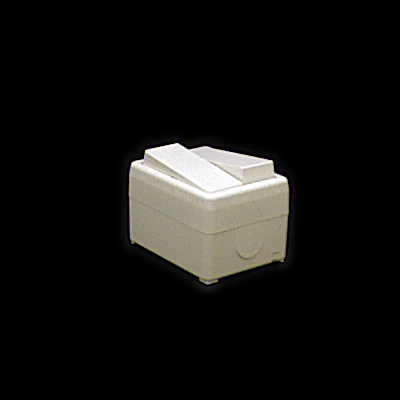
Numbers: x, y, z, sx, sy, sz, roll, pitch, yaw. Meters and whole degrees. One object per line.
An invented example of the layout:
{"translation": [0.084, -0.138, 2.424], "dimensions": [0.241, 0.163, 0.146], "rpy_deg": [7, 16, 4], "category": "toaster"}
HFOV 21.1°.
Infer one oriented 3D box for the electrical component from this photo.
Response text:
{"translation": [0.000, 0.000, 0.641], "dimensions": [0.061, 0.061, 0.095], "rpy_deg": [-14, 26, -35], "category": "electrical component"}
